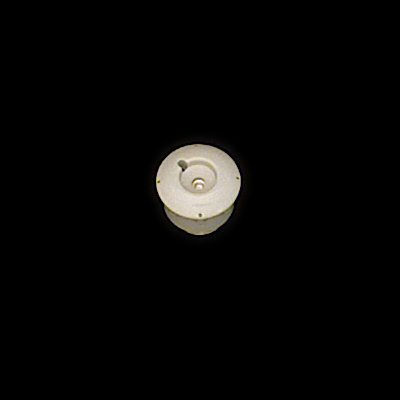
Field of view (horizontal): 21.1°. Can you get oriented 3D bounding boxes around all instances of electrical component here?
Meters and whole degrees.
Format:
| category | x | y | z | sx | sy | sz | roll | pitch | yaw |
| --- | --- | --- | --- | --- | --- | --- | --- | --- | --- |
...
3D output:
| category | x | y | z | sx | sy | sz | roll | pitch | yaw |
| --- | --- | --- | --- | --- | --- | --- | --- | --- | --- |
| electrical component | 0.000 | 0.000 | 0.633 | 0.048 | 0.048 | 0.062 | 0 | -27 | 0 |
